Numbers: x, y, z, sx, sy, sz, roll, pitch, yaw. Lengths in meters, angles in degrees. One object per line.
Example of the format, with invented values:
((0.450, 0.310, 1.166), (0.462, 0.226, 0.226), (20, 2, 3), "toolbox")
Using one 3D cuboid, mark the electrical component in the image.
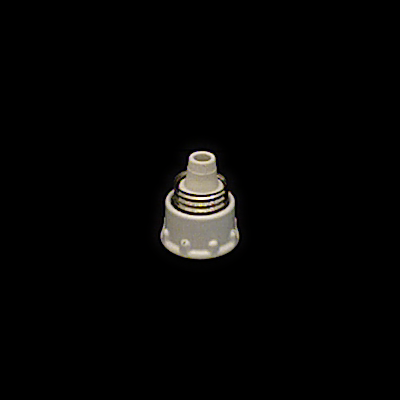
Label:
((0.000, 0.000, 0.643), (0.048, 0.063, 0.047), (2, 32, 0), "electrical component")
